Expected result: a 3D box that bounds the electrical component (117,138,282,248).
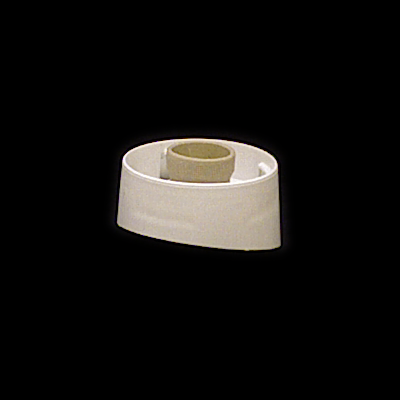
[{"bbox_3d":[0.000,0.000,0.637,0.099,0.065,0.097,1,20,0],"label":"electrical component"}]
